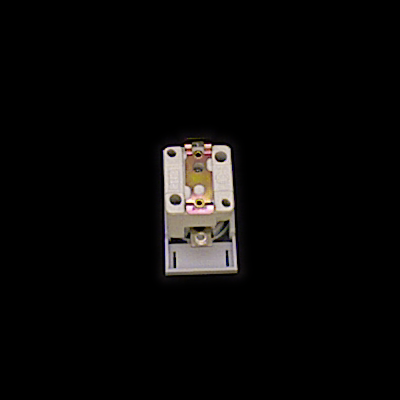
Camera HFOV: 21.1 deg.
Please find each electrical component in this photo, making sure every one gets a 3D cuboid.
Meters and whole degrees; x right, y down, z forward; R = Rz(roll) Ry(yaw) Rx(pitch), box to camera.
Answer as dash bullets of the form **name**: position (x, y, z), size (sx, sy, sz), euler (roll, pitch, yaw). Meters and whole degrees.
- **electrical component**: position (0.000, 0.000, 0.625), size (0.042, 0.081, 0.063), euler (-2, -27, -2)
